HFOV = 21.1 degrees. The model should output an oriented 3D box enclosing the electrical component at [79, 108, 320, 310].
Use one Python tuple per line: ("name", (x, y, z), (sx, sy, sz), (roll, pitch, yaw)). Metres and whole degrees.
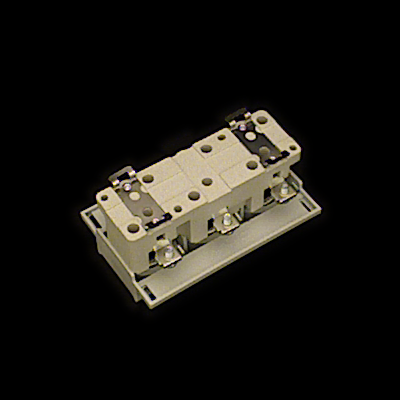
("electrical component", (0.000, 0.000, 0.636), (0.122, 0.078, 0.063), (-28, -33, -20))
